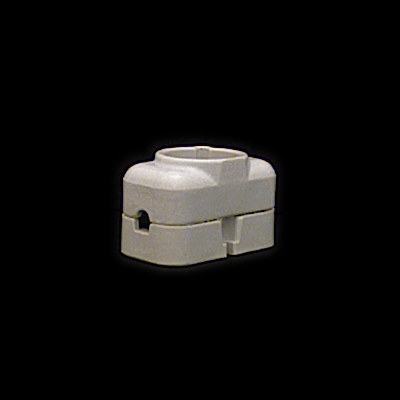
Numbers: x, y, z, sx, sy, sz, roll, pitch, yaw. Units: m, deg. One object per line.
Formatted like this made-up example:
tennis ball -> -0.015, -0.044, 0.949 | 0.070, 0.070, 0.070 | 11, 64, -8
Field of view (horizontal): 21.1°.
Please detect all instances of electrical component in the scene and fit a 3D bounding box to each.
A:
electrical component -> 0.000, 0.000, 0.652 | 0.053, 0.060, 0.096 | 13, 16, 43
